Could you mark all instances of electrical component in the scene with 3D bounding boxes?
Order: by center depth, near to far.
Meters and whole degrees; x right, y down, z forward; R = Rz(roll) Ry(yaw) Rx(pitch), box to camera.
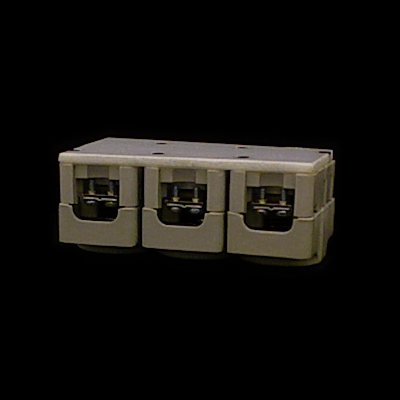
[{"bbox_3d":[0.000,0.000,0.652,0.150,0.062,0.088,4,11,14],"label":"electrical component"}]
